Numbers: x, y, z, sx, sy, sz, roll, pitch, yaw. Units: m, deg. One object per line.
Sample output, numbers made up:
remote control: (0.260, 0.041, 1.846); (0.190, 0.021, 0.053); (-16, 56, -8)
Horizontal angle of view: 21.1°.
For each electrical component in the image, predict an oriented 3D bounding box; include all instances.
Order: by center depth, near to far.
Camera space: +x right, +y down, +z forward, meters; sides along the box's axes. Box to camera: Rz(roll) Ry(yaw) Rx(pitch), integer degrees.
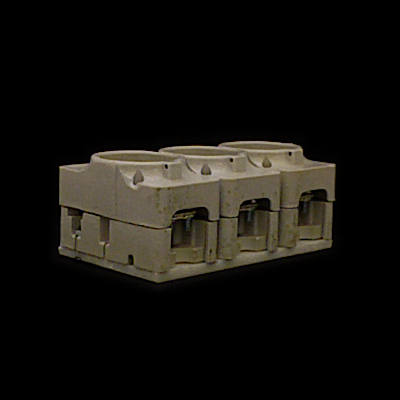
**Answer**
electrical component: (0.000, 0.000, 0.650); (0.149, 0.062, 0.089); (-9, 15, -44)
